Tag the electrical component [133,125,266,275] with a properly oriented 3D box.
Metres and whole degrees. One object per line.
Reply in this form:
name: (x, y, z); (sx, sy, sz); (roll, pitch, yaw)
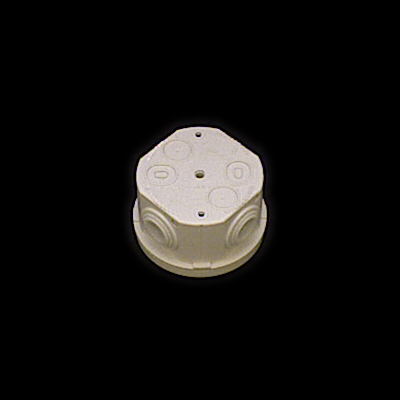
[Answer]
electrical component: (0.000, 0.000, 0.633); (0.080, 0.080, 0.051); (0, -38, 0)
